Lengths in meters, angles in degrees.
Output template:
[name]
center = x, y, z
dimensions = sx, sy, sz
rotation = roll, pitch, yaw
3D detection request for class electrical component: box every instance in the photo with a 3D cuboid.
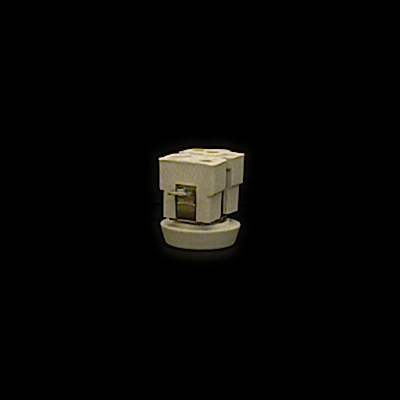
[electrical component]
center = 0.000, 0.000, 0.653
dimensions = 0.048, 0.056, 0.066
rotation = 8, 14, 25
